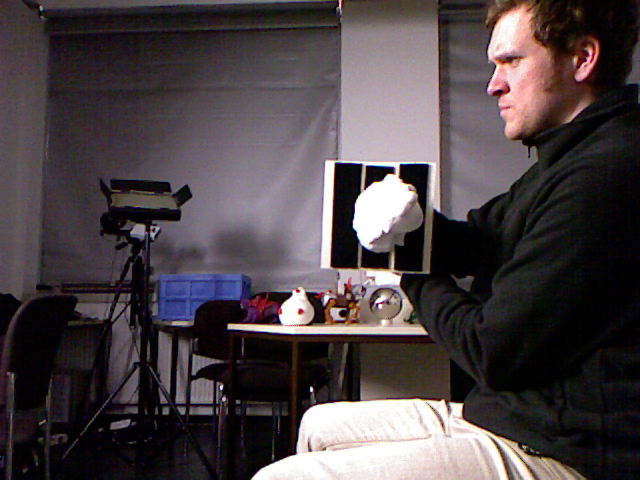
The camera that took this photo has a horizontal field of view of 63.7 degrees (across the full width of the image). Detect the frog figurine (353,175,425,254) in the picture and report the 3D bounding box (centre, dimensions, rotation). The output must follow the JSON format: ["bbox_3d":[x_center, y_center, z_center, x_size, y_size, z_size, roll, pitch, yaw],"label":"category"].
[{"bbox_3d":[0.114,-0.043,0.884,0.123,0.138,0.160,22,2,6],"label":"frog figurine"}]
